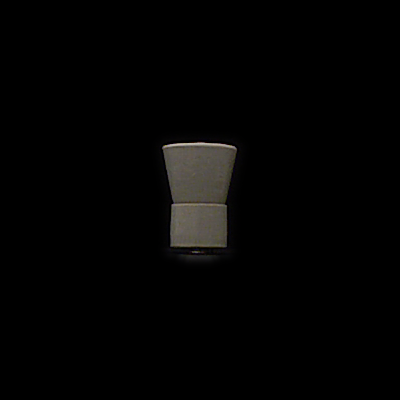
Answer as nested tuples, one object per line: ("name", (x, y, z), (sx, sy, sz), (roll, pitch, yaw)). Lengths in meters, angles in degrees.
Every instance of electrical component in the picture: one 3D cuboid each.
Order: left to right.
("electrical component", (0.000, 0.000, 0.652), (0.044, 0.065, 0.044), (0, 0, 0))
